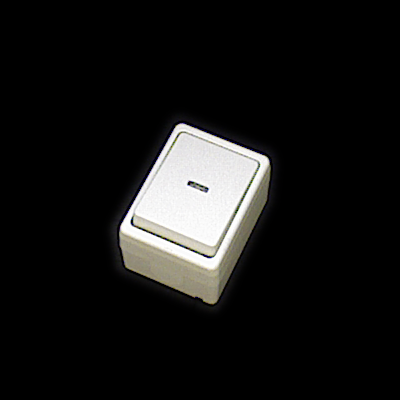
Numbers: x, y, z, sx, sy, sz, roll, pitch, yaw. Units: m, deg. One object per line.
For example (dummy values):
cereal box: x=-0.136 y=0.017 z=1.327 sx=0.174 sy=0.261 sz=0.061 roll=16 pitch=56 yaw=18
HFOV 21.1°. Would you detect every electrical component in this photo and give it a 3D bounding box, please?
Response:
electrical component: x=0.000 y=0.000 z=0.627 sx=0.061 sy=0.096 sz=0.061 roll=22 pitch=-25 yaw=11
